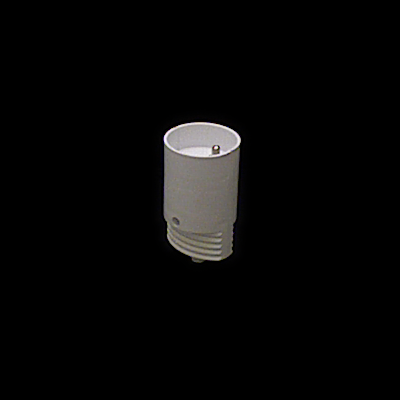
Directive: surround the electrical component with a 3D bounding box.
[{"bbox_3d":[0.000,0.000,0.629,0.043,0.082,0.042,1,32,0],"label":"electrical component"}]
